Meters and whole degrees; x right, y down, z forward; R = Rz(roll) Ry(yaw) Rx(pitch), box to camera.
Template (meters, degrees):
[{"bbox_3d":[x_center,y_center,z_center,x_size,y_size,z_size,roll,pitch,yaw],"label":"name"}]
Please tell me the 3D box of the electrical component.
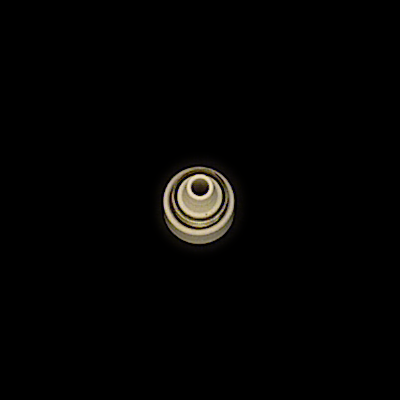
[{"bbox_3d":[0.000,0.000,0.634,0.043,0.043,0.061,0,-15,-1],"label":"electrical component"}]
